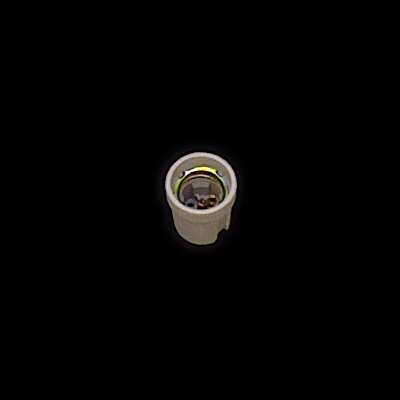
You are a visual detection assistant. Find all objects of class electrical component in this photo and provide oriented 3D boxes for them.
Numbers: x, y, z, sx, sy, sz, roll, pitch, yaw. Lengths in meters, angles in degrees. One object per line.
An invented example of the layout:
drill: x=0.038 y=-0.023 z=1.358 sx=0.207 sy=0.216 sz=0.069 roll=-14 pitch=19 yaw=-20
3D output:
electrical component: x=0.000 y=0.000 z=0.628 sx=0.040 sy=0.040 sz=0.046 roll=0 pitch=-28 yaw=0
